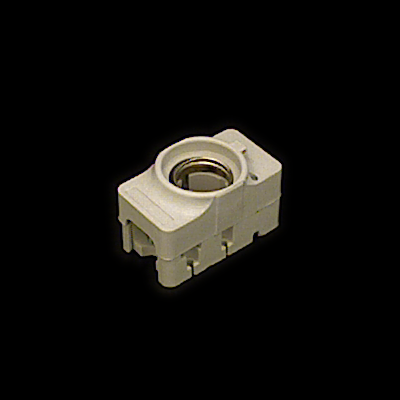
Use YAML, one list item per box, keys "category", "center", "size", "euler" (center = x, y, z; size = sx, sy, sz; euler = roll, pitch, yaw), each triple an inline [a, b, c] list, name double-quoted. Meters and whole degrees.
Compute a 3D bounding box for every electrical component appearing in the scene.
- category: "electrical component"
  center: [0.000, 0.000, 0.639]
  size: [0.090, 0.056, 0.049]
  euler: [-30, 50, -29]
